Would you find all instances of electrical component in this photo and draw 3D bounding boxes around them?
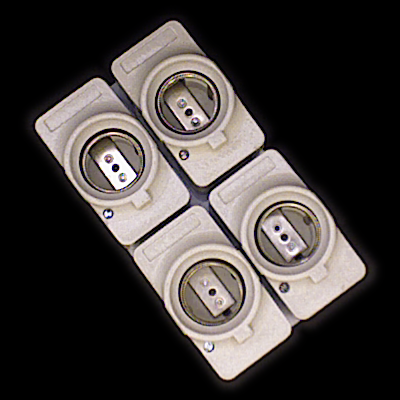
[{"bbox_3d":[0.000,0.000,0.626,0.106,0.186,0.060,-37,-5,-4],"label":"electrical component"}]
